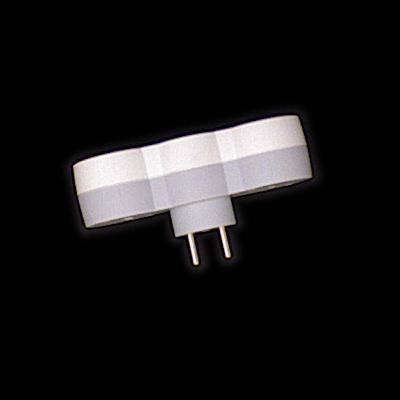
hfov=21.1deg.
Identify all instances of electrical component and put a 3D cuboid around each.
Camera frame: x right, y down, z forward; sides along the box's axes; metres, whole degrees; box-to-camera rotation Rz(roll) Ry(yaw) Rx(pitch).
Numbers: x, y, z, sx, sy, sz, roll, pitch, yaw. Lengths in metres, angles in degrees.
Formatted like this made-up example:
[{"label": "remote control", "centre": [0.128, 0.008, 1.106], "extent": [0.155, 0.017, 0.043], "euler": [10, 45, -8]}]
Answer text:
[{"label": "electrical component", "centre": [0.000, 0.000, 0.632], "extent": [0.138, 0.074, 0.052], "euler": [-13, -4, -2]}]
